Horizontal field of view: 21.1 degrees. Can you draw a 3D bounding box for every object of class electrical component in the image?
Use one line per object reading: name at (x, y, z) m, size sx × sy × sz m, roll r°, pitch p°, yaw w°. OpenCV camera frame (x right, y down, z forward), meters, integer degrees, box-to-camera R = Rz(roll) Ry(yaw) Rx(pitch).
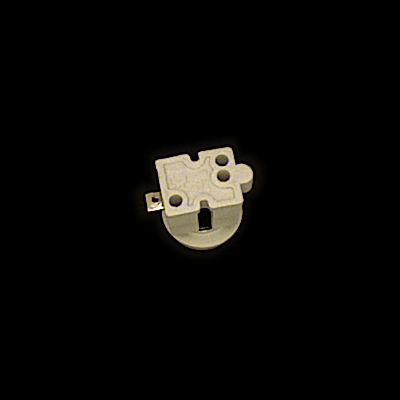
electrical component at (0.000, 0.000, 0.638) m, size 0.066 × 0.048 × 0.055 m, roll -10°, pitch -25°, yaw -4°
